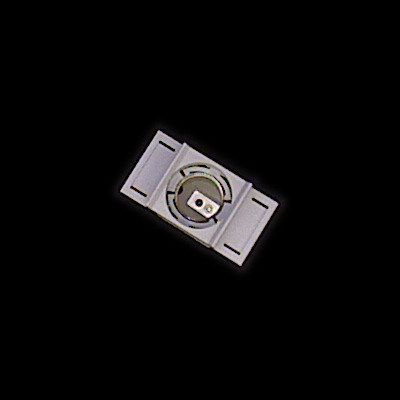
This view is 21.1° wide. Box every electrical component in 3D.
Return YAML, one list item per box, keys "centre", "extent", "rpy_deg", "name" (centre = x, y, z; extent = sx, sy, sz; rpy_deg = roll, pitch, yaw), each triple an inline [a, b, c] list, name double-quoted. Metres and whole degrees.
- centre: [0.000, 0.000, 0.624]
  extent: [0.081, 0.042, 0.063]
  rpy_deg: [32, -6, 4]
  name: "electrical component"
